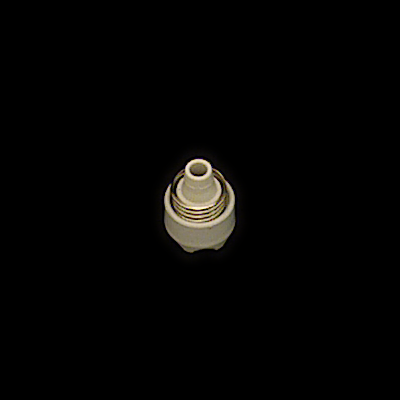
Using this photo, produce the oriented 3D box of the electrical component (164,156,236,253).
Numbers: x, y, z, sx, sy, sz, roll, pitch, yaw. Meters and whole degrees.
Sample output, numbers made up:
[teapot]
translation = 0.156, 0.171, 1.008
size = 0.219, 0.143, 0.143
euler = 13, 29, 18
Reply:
[electrical component]
translation = 0.000, 0.000, 0.635
size = 0.043, 0.043, 0.062
euler = 0, -36, 1
